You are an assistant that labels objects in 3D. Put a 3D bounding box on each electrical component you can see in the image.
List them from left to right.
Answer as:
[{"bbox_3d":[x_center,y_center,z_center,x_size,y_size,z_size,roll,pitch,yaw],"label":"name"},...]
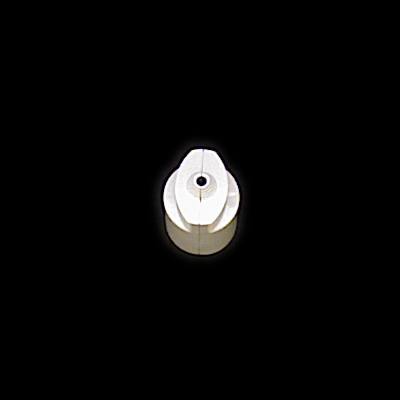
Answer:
[{"bbox_3d":[0.000,0.000,0.616,0.043,0.043,0.080,0,-17,0],"label":"electrical component"}]
